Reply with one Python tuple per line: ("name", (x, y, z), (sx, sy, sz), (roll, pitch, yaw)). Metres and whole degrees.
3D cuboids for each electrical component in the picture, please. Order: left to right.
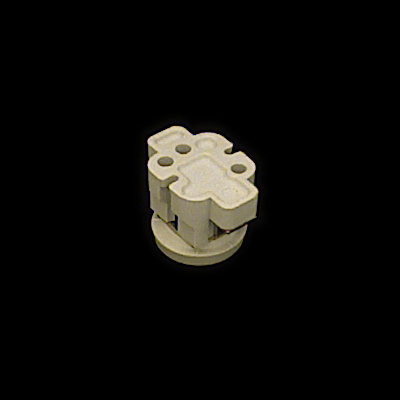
("electrical component", (0.000, 0.000, 0.639), (0.058, 0.057, 0.077), (-28, 51, -29))
